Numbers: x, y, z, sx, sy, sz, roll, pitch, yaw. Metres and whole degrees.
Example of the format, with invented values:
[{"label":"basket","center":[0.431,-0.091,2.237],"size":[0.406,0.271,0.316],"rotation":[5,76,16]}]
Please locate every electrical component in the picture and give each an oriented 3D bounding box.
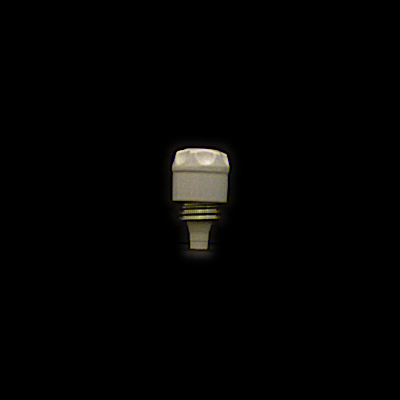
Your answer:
[{"label":"electrical component","center":[0.000,0.000,0.659],"size":[0.035,0.061,0.035],"rotation":[2,2,0]}]
